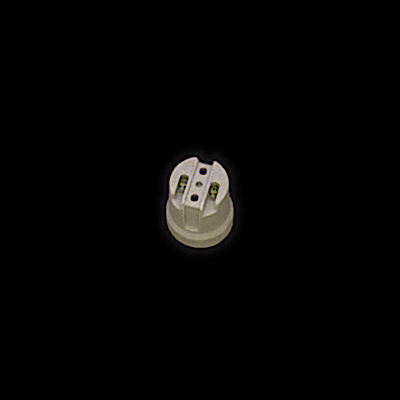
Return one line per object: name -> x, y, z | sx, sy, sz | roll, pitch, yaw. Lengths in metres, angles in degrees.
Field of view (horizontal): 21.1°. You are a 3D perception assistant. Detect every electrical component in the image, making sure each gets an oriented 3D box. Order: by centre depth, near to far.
electrical component -> 0.000, 0.000, 0.633 | 0.040, 0.040, 0.046 | 0, -27, 0
